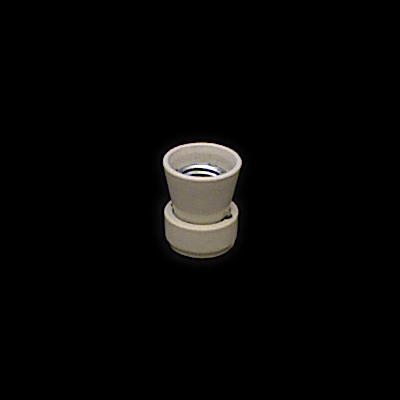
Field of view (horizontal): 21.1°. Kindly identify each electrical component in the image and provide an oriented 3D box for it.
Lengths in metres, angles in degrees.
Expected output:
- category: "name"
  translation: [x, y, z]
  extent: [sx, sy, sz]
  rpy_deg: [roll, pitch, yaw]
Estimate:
- category: "electrical component"
  translation: [0.000, 0.000, 0.637]
  extent: [0.045, 0.056, 0.044]
  rpy_deg: [1, 31, 0]
